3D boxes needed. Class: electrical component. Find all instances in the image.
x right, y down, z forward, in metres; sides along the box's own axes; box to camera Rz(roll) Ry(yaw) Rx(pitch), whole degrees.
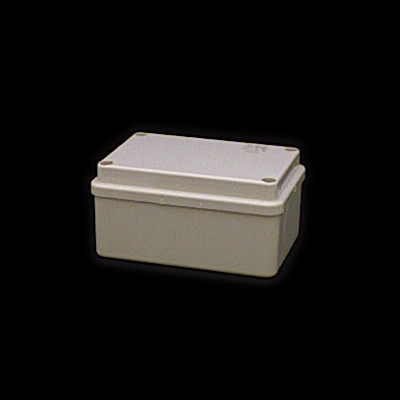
[{"bbox_3d":[0.000,0.000,0.641,0.113,0.058,0.077,6,22,14],"label":"electrical component"}]
